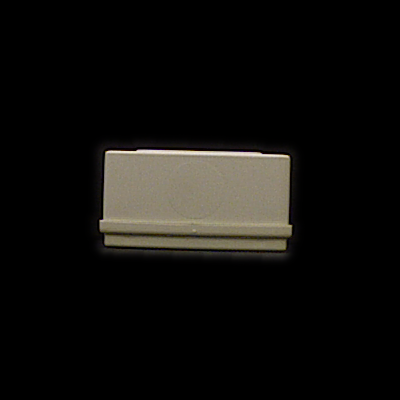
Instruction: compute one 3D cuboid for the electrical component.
[{"bbox_3d":[0.000,0.000,0.652,0.109,0.056,0.108,2,0,3],"label":"electrical component"}]
